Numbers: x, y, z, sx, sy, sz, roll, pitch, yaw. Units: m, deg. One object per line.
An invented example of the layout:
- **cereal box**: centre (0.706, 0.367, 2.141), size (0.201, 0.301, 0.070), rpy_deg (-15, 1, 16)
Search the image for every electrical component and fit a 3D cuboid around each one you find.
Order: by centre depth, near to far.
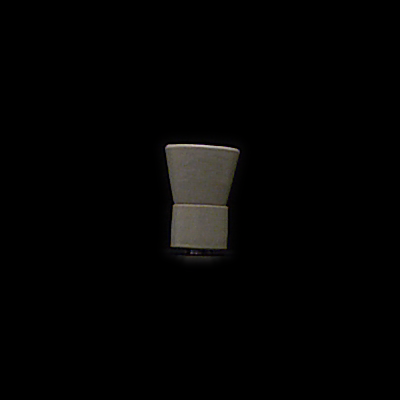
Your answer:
- **electrical component**: centre (0.000, 0.000, 0.652), size (0.044, 0.065, 0.044), rpy_deg (2, 0, 0)
